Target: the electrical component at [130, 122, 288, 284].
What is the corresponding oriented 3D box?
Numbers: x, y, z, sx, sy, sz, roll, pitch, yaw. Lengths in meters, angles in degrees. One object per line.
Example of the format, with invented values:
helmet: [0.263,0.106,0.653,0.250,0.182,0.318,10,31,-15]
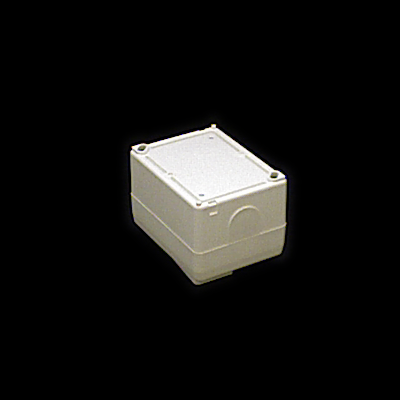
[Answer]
electrical component: [0.000,0.000,0.639,0.062,0.062,0.095,-18,36,-27]
